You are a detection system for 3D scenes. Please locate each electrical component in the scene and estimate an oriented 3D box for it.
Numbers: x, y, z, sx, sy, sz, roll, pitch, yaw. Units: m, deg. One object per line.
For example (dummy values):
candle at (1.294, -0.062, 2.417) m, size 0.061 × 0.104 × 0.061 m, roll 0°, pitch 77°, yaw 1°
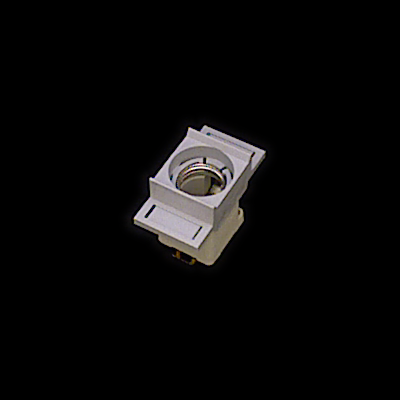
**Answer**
electrical component at (0.000, 0.000, 0.628) m, size 0.042 × 0.080 × 0.064 m, roll 24°, pitch -34°, yaw 19°
